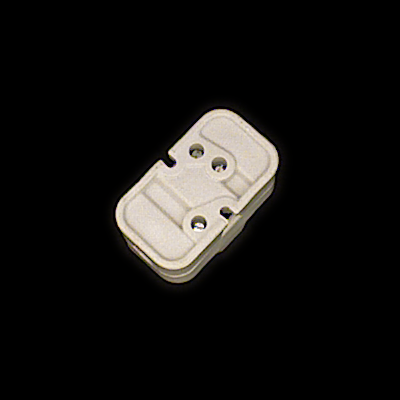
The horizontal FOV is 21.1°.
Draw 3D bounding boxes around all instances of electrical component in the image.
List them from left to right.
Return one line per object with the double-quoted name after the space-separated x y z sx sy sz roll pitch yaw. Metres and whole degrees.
0.000 0.000 0.635 0.053 0.096 0.059 41 -11 11 "electrical component"
